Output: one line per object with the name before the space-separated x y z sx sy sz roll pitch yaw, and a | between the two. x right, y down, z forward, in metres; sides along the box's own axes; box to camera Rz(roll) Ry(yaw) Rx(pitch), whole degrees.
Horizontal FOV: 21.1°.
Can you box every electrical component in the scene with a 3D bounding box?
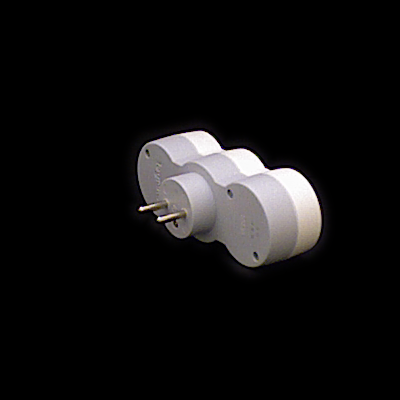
electrical component | 0.000 0.000 0.639 0.073 0.053 0.137 -16 27 -33
